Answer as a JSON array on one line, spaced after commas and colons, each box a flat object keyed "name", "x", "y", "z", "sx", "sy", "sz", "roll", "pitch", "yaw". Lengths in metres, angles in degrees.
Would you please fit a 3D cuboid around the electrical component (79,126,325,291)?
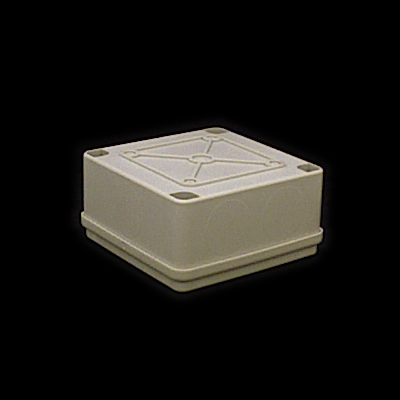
[{"name": "electrical component", "x": 0.000, "y": 0.000, "z": 0.640, "sx": 0.108, "sy": 0.057, "sz": 0.107, "roll": -13, "pitch": 26, "yaw": -34}]
